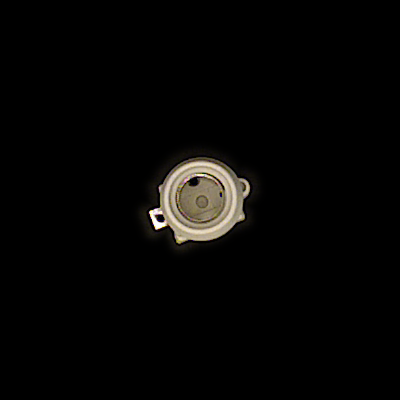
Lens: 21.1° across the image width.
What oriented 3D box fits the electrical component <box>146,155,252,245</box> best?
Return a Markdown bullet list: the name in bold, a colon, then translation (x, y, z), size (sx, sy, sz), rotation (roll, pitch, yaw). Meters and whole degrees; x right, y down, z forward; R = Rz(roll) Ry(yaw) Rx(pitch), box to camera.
- **electrical component**: translation (0.000, 0.000, 0.639), size (0.066, 0.048, 0.055), rotation (-22, -8, -2)
